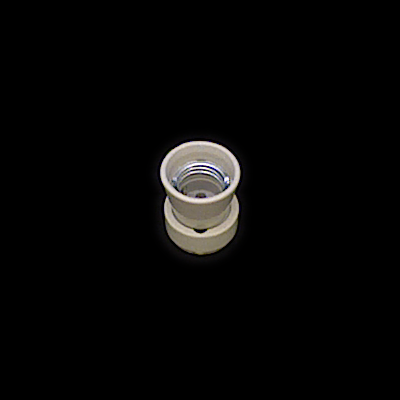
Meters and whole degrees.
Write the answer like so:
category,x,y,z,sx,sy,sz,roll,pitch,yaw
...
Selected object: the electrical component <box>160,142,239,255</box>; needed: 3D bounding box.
category,x,y,z,sx,sy,sz,roll,pitch,yaw
electrical component,0.000,0.000,0.628,0.045,0.044,0.055,0,-38,0
